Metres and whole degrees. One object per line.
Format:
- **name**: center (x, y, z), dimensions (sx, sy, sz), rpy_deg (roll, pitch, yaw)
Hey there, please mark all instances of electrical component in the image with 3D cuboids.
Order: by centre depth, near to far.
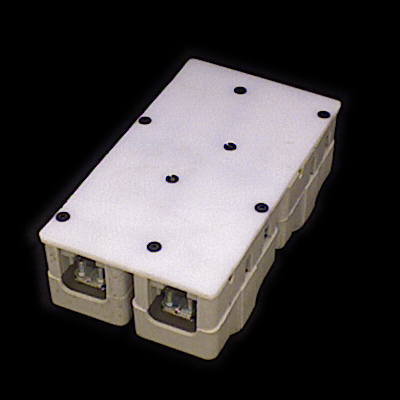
- **electrical component**: center (0.000, 0.000, 0.630), dimensions (0.105, 0.061, 0.185), rpy_deg (19, 45, 18)
